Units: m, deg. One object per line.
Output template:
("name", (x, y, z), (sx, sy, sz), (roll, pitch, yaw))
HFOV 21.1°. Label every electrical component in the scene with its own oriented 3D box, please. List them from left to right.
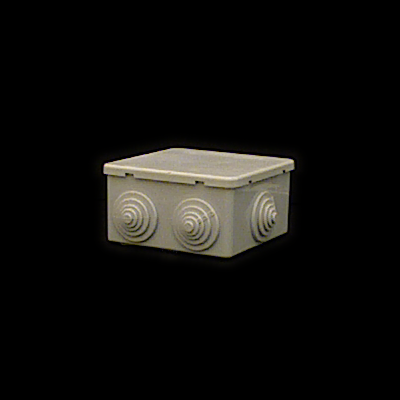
("electrical component", (0.000, 0.000, 0.654), (0.099, 0.049, 0.100), (7, 13, 28))
